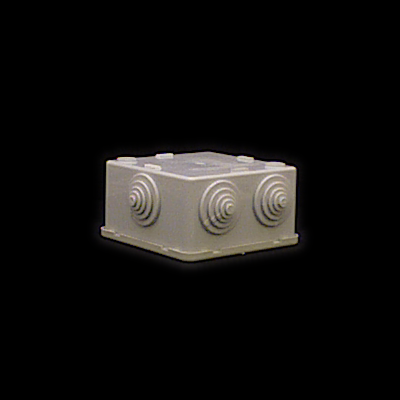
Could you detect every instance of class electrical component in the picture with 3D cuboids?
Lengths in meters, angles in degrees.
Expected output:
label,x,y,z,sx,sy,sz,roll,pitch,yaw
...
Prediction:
label,x,y,z,sx,sy,sz,roll,pitch,yaw
electrical component,0.000,0.000,0.646,0.100,0.049,0.099,-7,14,-39
